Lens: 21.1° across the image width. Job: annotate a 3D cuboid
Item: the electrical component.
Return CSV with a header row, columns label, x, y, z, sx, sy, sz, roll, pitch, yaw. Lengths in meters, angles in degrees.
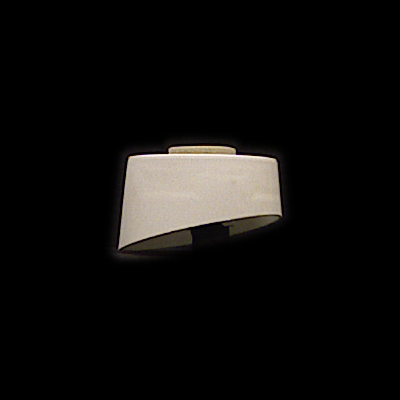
label,x,y,z,sx,sy,sz,roll,pitch,yaw
electrical component,0.000,0.000,0.650,0.099,0.064,0.099,1,0,0
